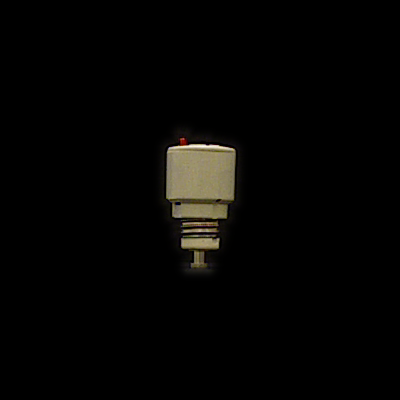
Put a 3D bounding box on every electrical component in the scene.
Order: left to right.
[{"bbox_3d":[0.000,0.000,0.648,0.040,0.078,0.040,1,2,0],"label":"electrical component"}]
